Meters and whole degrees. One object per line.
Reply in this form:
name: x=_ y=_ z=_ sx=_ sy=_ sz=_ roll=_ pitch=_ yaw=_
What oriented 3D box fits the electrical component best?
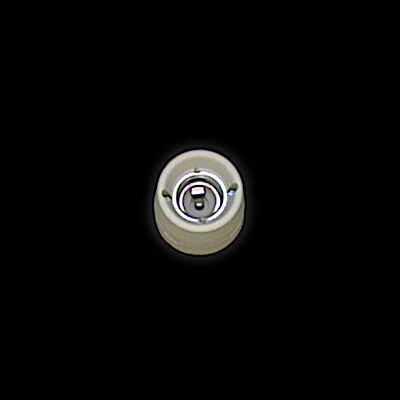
electrical component: x=0.000 y=0.000 z=0.633 sx=0.055 sy=0.056 sz=0.047 roll=0 pitch=-17 yaw=-1
